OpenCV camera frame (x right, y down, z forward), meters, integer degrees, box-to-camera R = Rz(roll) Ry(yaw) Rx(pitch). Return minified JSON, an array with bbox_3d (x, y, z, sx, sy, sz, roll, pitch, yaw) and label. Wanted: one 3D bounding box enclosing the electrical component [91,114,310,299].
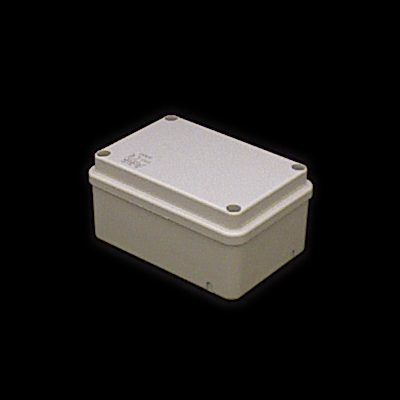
[{"bbox_3d":[0.000,0.000,0.633,0.112,0.058,0.078,23,38,32],"label":"electrical component"}]
